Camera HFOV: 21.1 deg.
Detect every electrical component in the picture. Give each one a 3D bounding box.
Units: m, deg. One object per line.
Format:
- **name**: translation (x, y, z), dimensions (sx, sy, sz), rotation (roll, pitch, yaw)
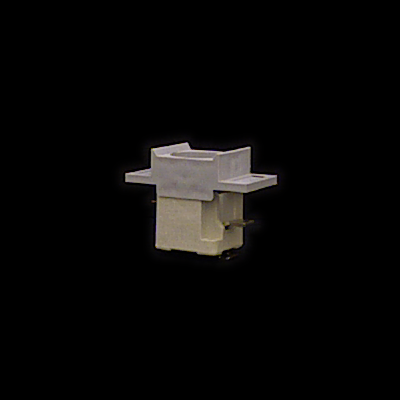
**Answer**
- **electrical component**: translation (0.000, 0.000, 0.643), dimensions (0.080, 0.064, 0.042), rotation (6, 11, 29)
